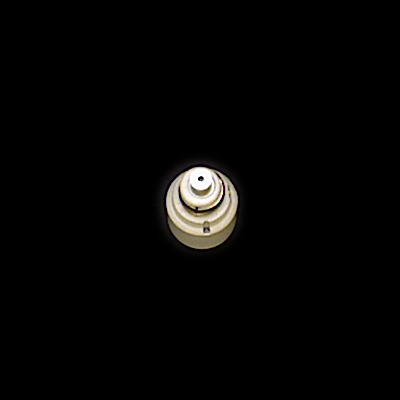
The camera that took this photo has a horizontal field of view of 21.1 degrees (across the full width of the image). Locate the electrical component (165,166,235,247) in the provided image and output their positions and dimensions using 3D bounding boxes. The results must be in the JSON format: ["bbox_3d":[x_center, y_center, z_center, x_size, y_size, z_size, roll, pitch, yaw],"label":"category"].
[{"bbox_3d":[0.000,0.000,0.617,0.040,0.040,0.078,0,-18,1],"label":"electrical component"}]
